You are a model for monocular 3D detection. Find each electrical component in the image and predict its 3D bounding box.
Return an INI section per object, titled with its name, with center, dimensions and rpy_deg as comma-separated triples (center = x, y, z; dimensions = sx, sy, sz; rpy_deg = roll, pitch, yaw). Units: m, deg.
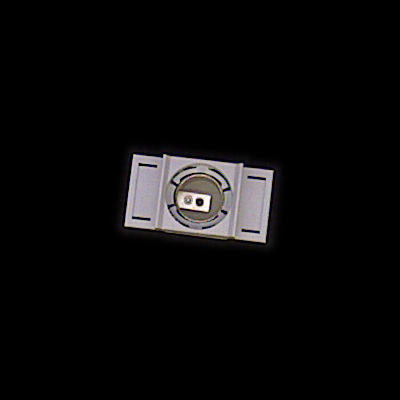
[electrical component]
center = 0.000, 0.000, 0.625
dimensions = 0.081, 0.042, 0.063
rpy_deg = 7, -5, 0
